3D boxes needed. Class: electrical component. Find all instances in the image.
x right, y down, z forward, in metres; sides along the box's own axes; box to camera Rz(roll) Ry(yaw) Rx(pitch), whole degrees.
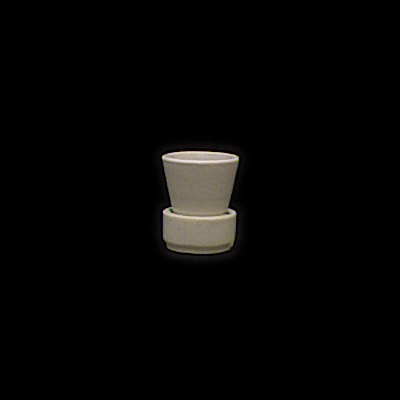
[{"bbox_3d":[0.000,0.000,0.643,0.045,0.055,0.044,1,12,0],"label":"electrical component"}]
